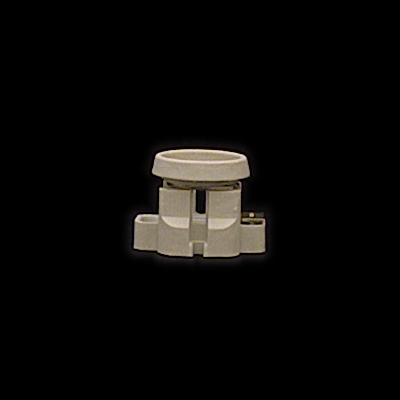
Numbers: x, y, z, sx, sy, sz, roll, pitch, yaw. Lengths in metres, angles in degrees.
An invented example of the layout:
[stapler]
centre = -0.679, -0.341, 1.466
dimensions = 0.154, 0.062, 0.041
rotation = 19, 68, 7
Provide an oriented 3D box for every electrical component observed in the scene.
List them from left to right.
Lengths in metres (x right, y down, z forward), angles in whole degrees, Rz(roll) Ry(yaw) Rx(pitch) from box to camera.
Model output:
[electrical component]
centre = 0.000, 0.000, 0.645
dimensions = 0.078, 0.057, 0.057
rotation = 2, 11, 2
